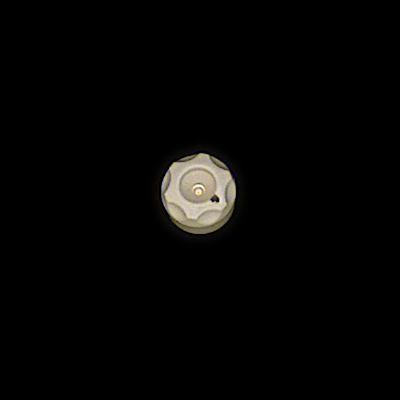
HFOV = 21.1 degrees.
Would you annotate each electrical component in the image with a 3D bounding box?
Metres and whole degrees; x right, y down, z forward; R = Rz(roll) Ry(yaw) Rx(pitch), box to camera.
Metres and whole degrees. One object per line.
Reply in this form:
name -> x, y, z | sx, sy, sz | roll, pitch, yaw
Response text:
electrical component -> 0.000, 0.000, 0.634 | 0.043, 0.043, 0.061 | 0, -16, 1
